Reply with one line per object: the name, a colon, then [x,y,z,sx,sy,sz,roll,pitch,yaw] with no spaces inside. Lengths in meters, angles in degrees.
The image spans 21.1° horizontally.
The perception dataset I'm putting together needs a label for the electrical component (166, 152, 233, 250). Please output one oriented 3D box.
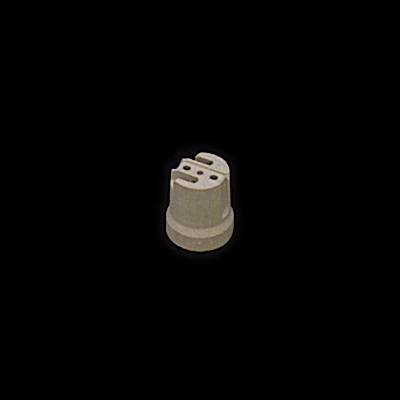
electrical component: [0.000,0.000,0.636,0.040,0.046,0.040,1,42,-1]
